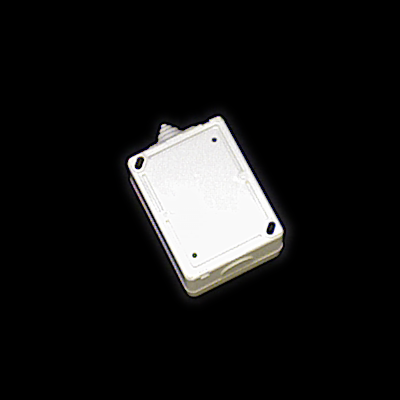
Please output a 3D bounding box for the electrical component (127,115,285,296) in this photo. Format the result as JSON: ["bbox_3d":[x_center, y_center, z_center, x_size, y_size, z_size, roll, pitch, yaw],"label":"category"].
[{"bbox_3d":[0.000,0.000,0.627,0.062,0.096,0.061,-26,-15,-7],"label":"electrical component"}]
